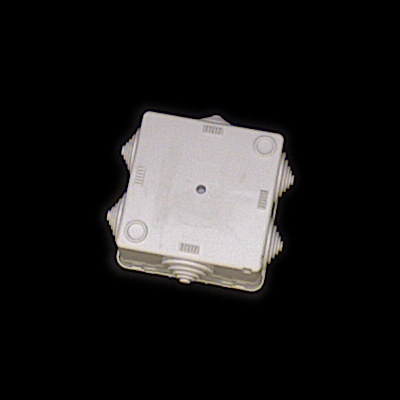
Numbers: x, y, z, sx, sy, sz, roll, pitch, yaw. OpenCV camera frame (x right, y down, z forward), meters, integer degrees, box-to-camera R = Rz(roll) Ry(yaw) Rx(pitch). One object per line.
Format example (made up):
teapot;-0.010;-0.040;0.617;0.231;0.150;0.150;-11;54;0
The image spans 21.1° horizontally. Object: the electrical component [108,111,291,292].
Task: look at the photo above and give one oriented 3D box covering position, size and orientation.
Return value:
electrical component;0.000;0.000;0.631;0.100;0.100;0.048;10;-16;3
